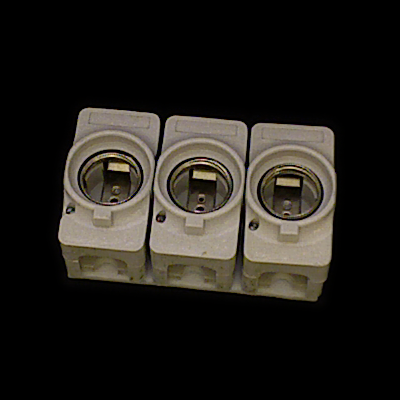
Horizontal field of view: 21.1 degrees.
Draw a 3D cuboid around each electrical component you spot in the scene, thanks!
[{"bbox_3d":[0.000,0.000,0.631,0.150,0.089,0.062,4,-27,3],"label":"electrical component"}]
